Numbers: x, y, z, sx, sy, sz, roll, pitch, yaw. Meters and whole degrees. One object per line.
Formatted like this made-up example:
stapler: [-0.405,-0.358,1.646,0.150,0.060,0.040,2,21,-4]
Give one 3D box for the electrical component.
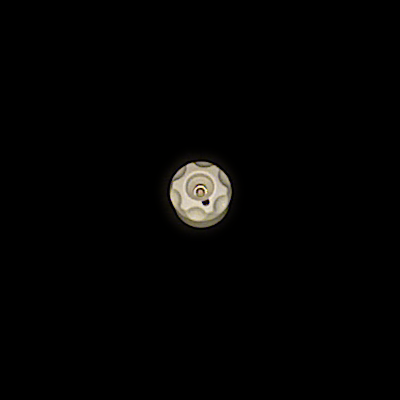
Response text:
electrical component: [0.000,0.000,0.633,0.035,0.035,0.061,0,-15,1]
